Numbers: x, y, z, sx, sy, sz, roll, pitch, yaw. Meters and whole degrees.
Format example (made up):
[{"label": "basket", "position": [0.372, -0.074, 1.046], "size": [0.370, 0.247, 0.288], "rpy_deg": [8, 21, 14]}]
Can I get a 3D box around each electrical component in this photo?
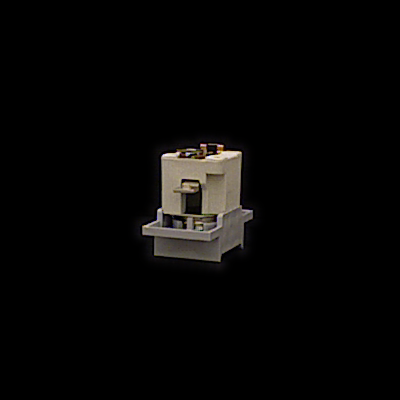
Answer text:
[{"label": "electrical component", "position": [0.000, 0.000, 0.645], "size": [0.042, 0.064, 0.080], "rpy_deg": [5, 11, 19]}]
